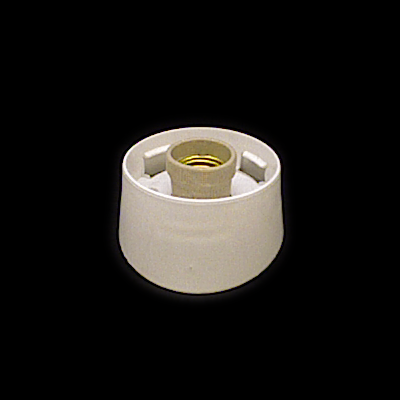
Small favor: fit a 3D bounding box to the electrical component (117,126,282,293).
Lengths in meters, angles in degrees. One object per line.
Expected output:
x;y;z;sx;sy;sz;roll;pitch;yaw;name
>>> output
0.000;0.000;0.634;0.099;0.065;0.097;1;32;0;electrical component
